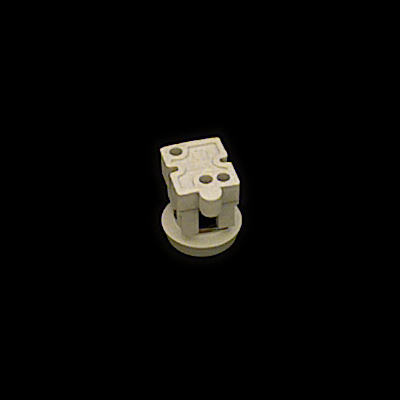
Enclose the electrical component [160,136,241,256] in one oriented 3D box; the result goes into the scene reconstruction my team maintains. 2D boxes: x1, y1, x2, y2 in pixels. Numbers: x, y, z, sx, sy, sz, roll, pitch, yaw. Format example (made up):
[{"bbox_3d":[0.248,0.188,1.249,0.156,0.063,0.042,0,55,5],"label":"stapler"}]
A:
[{"bbox_3d":[0.000,0.000,0.640,0.048,0.056,0.065,-11,43,-11],"label":"electrical component"}]
